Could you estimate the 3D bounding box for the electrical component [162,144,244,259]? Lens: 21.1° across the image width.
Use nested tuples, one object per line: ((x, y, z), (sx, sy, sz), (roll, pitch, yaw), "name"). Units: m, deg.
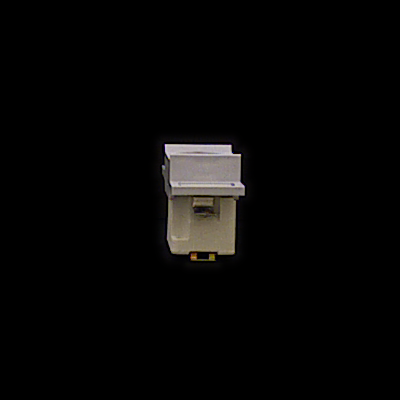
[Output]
((0.000, 0.000, 0.646), (0.042, 0.064, 0.080), (-1, 11, -5), "electrical component")
